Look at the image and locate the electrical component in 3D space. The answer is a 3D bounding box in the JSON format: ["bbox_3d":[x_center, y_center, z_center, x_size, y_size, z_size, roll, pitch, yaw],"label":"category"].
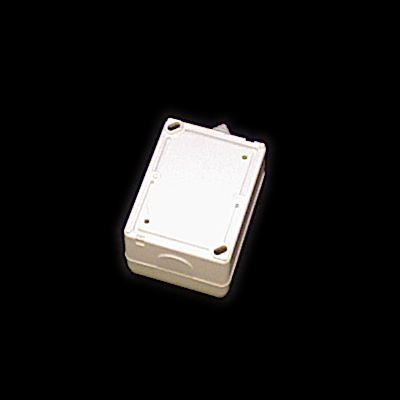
[{"bbox_3d":[0.000,0.000,0.628,0.062,0.096,0.061,15,-27,7],"label":"electrical component"}]
